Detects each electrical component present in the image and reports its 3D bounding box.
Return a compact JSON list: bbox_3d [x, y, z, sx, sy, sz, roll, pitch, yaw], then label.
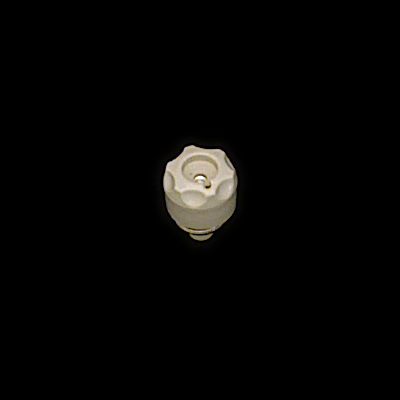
[{"bbox_3d":[0.000,0.000,0.636,0.043,0.043,0.062,0,-38,1],"label":"electrical component"}]
